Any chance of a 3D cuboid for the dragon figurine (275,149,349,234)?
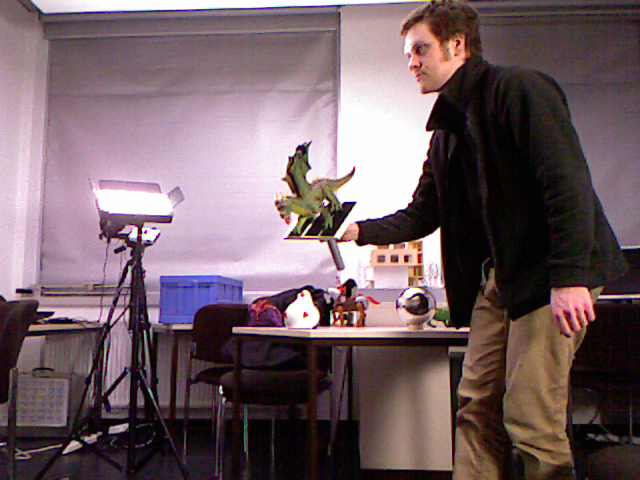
[{"bbox_3d":[-0.025,-0.173,1.594,0.122,0.238,0.420,3,42,28],"label":"dragon figurine"}]
